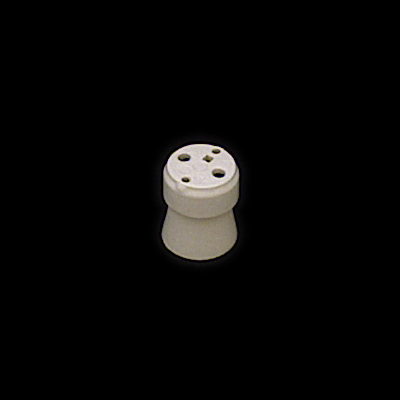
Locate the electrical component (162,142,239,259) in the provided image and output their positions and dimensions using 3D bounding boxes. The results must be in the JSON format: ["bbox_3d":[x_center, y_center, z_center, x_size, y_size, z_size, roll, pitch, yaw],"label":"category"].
[{"bbox_3d":[0.000,0.000,0.632,0.045,0.055,0.044,1,43,0],"label":"electrical component"}]
